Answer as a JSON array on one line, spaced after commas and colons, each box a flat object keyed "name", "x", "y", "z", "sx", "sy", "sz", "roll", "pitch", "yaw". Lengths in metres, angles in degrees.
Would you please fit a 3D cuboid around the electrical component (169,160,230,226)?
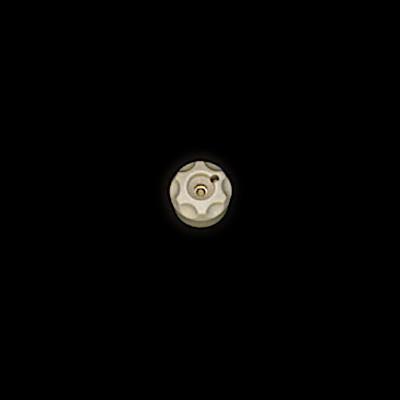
[{"name": "electrical component", "x": 0.000, "y": 0.000, "z": 0.634, "sx": 0.035, "sy": 0.035, "sz": 0.061, "roll": 0, "pitch": -16, "yaw": 1}]
